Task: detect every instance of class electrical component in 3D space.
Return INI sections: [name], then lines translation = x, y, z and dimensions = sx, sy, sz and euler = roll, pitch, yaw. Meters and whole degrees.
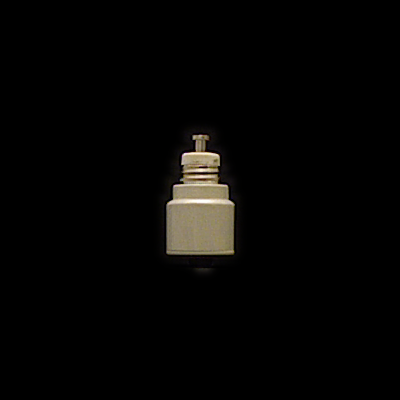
[electrical component]
translation = 0.000, 0.000, 0.649
dimensions = 0.040, 0.078, 0.040
euler = 0, 2, 0
